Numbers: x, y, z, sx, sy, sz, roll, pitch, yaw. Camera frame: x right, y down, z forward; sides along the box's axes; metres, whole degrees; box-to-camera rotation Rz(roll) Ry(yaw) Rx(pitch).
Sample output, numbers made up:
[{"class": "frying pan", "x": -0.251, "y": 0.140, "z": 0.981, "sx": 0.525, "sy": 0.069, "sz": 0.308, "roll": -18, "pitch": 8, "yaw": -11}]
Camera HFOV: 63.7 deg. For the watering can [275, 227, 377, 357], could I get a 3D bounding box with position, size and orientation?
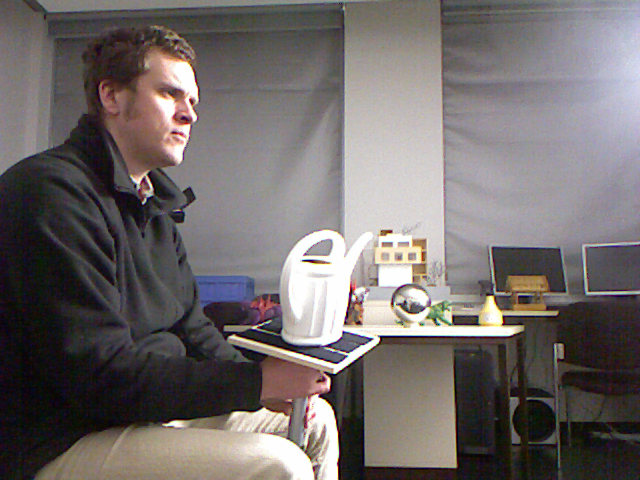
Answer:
[{"class": "watering can", "x": 0.020, "y": 0.085, "z": 0.943, "sx": 0.104, "sy": 0.223, "sz": 0.349, "roll": 15, "pitch": 12, "yaw": 27}]
